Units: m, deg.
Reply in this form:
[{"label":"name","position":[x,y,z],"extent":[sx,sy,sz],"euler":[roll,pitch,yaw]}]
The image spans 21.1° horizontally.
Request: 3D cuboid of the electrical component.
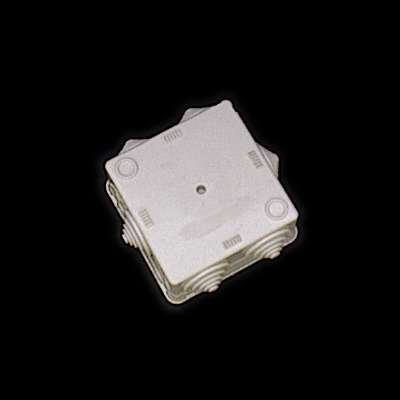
[{"label":"electrical component","position":[0.000,0.000,0.632],"extent":[0.100,0.100,0.048],"euler":[-28,-14,-8]}]
